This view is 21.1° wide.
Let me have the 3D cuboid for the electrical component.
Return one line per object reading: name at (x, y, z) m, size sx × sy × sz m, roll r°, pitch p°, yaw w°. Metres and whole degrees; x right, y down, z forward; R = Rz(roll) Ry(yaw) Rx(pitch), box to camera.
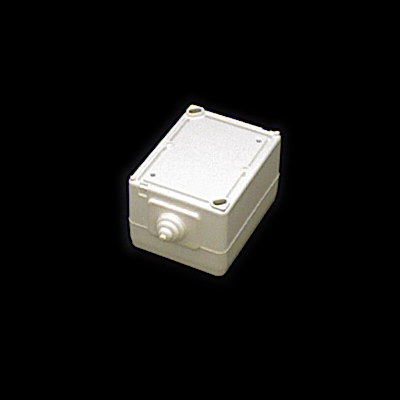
electrical component at (0.000, 0.000, 0.625) m, size 0.061 × 0.061 × 0.096 m, roll 19°, pitch 44°, yaw 18°
